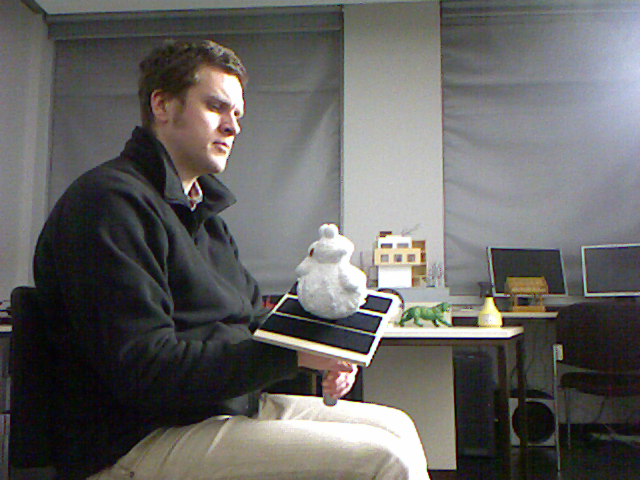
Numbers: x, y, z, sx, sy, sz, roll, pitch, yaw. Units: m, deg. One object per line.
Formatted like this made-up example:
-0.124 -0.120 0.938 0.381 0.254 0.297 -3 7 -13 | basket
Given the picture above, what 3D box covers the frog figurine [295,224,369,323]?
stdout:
0.021 0.059 0.893 0.139 0.156 0.124 25 40 37 | frog figurine
